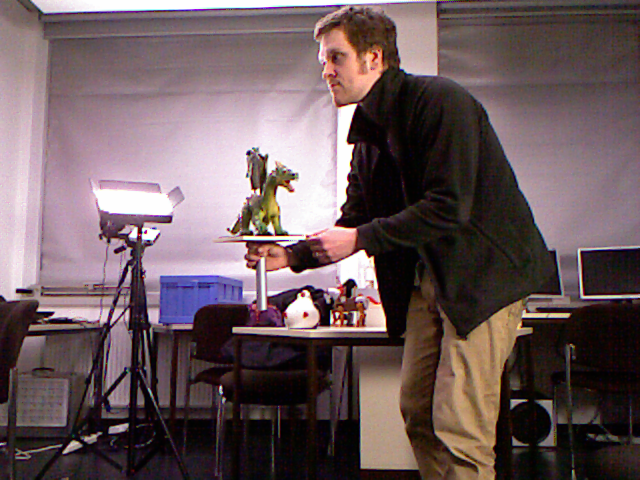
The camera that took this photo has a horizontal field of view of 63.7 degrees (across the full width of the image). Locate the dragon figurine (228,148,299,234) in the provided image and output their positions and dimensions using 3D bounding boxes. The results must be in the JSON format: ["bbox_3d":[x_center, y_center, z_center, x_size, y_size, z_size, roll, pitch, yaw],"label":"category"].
[{"bbox_3d":[-0.183,-0.136,1.458,0.122,0.243,0.410,-1,2,-35],"label":"dragon figurine"}]
